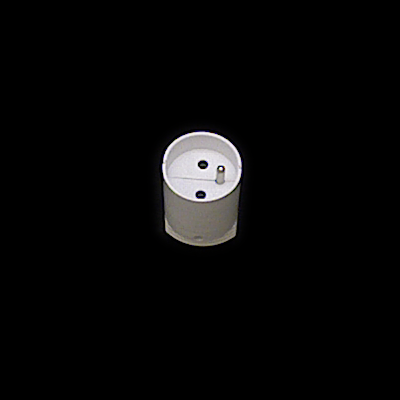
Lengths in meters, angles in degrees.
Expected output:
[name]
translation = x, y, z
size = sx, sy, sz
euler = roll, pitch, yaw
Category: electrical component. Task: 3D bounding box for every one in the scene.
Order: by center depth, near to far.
[electrical component]
translation = 0.000, 0.000, 0.617
size = 0.043, 0.043, 0.081
euler = 0, -27, -1
